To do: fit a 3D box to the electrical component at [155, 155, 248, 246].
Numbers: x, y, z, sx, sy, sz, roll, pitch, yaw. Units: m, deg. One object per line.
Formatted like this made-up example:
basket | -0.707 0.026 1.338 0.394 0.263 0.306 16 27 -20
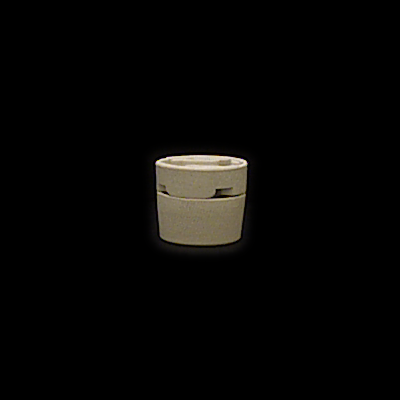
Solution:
electrical component | 0.000 0.000 0.645 0.055 0.047 0.055 2 11 0
